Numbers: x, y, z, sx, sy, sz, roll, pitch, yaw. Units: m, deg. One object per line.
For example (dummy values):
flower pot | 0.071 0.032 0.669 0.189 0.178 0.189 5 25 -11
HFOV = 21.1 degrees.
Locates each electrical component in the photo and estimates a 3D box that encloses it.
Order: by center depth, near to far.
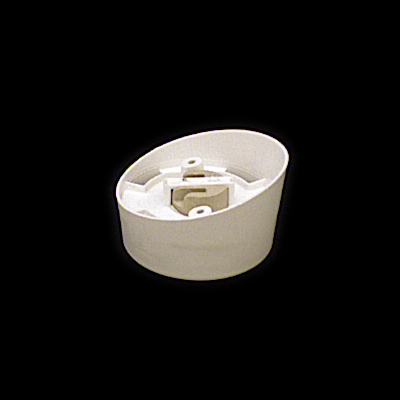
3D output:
electrical component | 0.000 0.000 0.634 0.099 0.065 0.097 2 30 -1
